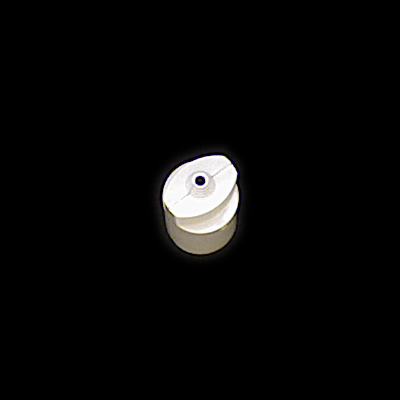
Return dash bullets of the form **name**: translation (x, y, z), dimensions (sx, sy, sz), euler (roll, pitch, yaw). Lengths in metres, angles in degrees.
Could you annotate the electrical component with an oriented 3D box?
- **electrical component**: translation (0.000, 0.000, 0.616), dimensions (0.043, 0.043, 0.080), euler (0, -17, 1)
